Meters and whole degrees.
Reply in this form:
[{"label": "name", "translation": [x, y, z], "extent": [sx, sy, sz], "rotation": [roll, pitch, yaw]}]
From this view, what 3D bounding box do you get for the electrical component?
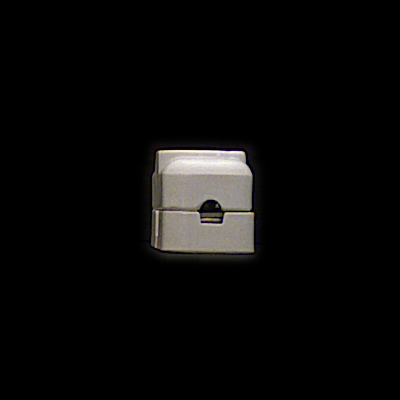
[{"label": "electrical component", "translation": [0.000, 0.000, 0.657], "extent": [0.054, 0.059, 0.095], "rotation": [1, 1, -9]}]
